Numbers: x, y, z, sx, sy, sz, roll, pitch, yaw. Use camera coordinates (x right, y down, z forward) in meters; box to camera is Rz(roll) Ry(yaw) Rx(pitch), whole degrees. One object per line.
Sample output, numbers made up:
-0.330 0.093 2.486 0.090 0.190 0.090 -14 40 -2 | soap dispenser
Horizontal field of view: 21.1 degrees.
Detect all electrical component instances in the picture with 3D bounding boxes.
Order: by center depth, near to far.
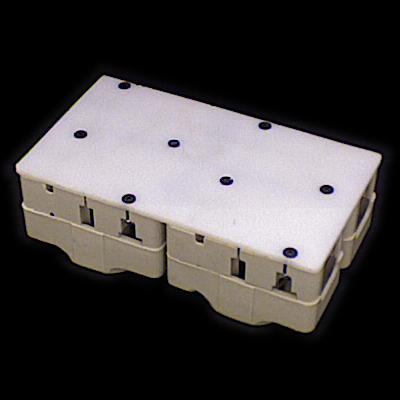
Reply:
0.000 0.000 0.630 0.185 0.061 0.105 18 45 18 | electrical component
